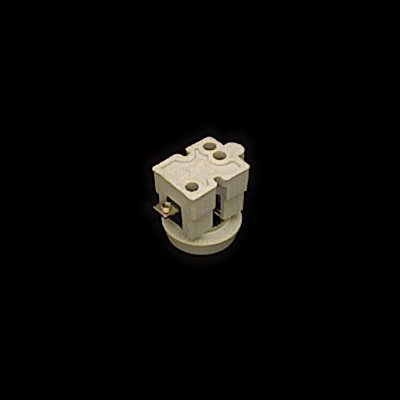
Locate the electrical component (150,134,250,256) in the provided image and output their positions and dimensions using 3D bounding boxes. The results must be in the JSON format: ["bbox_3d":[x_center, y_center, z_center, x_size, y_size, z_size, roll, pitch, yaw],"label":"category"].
[{"bbox_3d":[0.000,0.000,0.641,0.067,0.056,0.048,-30,52,-28],"label":"electrical component"}]
